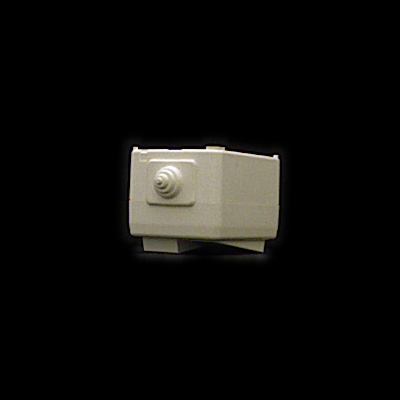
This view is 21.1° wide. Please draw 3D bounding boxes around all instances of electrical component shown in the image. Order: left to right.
[{"bbox_3d":[0.000,0.000,0.642,0.061,0.061,0.096,2,0,30],"label":"electrical component"}]
